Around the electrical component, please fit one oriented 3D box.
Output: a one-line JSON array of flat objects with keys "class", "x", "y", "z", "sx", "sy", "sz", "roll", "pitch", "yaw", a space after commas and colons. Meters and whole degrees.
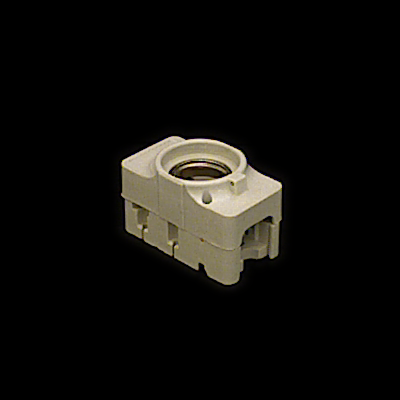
[{"class": "electrical component", "x": 0.000, "y": 0.000, "z": 0.642, "sx": 0.088, "sy": 0.056, "sz": 0.050, "roll": 26, "pitch": 40, "yaw": 34}]
